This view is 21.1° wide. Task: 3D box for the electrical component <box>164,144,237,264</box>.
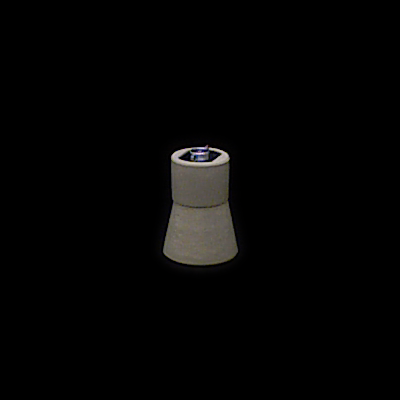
[{"bbox_3d":[0.000,0.000,0.639,0.044,0.066,0.044,0,21,0],"label":"electrical component"}]
